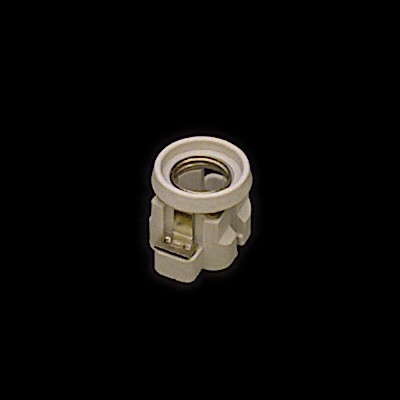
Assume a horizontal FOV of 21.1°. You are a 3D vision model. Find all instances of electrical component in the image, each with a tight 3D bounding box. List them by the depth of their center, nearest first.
[{"bbox_3d":[0.000,0.000,0.630,0.057,0.057,0.078,18,45,18],"label":"electrical component"}]
